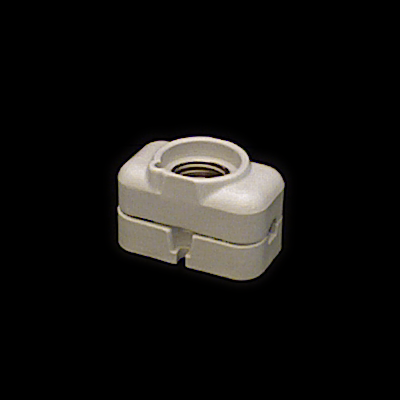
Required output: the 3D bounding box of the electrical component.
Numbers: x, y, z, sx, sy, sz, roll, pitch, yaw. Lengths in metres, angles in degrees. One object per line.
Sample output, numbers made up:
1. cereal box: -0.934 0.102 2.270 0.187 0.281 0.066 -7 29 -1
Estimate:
1. electrical component: 0.000 0.000 0.640 0.094 0.060 0.053 14 34 20
